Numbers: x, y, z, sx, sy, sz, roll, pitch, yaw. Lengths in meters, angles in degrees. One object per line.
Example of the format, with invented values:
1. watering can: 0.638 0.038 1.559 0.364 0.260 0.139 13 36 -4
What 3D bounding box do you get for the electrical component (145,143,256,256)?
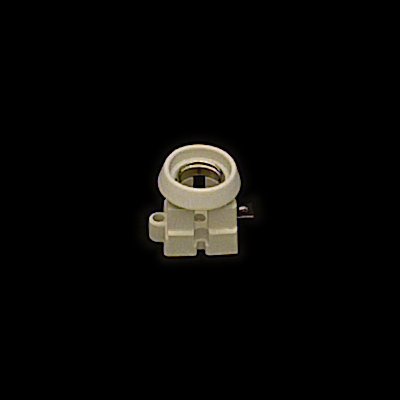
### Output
1. electrical component: 0.000 0.000 0.641 0.066 0.056 0.048 -3 45 -4
